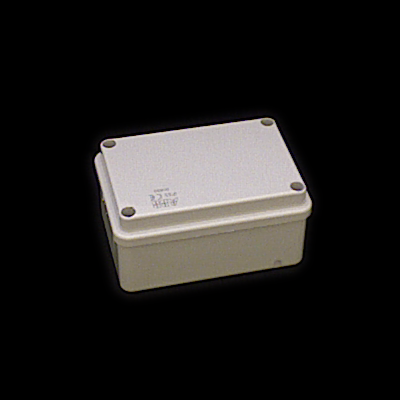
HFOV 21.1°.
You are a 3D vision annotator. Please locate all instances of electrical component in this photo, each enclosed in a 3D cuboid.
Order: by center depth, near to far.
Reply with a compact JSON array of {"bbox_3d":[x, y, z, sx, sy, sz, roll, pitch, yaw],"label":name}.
[{"bbox_3d":[0.000,0.000,0.629,0.113,0.057,0.077,-9,43,-11],"label":"electrical component"}]
